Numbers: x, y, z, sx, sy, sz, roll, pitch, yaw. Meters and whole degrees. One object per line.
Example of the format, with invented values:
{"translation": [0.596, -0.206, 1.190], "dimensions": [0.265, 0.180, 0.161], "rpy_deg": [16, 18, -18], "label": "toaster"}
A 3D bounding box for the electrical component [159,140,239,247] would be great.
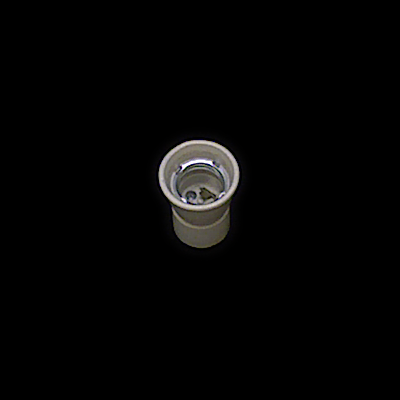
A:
{"translation": [0.000, 0.000, 0.625], "dimensions": [0.044, 0.044, 0.065], "rpy_deg": [0, -28, 1], "label": "electrical component"}
